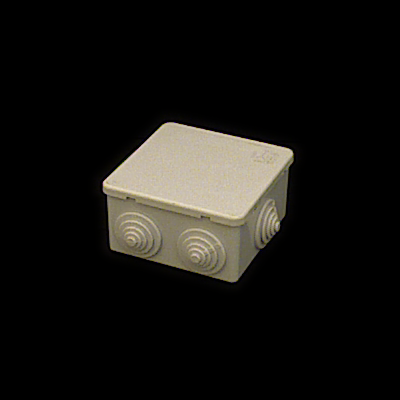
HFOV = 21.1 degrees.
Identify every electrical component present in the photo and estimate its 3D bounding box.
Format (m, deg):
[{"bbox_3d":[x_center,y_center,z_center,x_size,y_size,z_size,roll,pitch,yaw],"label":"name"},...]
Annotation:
[{"bbox_3d":[0.000,0.000,0.646,0.099,0.049,0.099,14,35,20],"label":"electrical component"}]
